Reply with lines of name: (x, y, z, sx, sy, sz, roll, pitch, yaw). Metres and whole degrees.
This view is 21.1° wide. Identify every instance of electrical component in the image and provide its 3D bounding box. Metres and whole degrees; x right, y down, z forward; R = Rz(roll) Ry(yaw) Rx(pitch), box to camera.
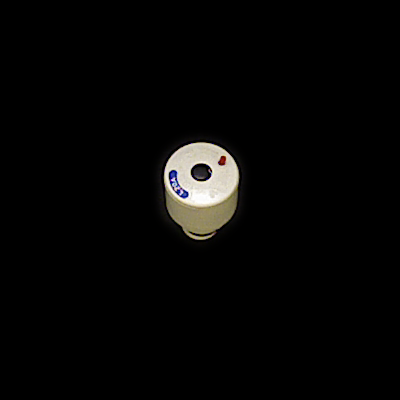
electrical component: (0.000, 0.000, 0.618, 0.040, 0.040, 0.078, 0, -28, 0)
